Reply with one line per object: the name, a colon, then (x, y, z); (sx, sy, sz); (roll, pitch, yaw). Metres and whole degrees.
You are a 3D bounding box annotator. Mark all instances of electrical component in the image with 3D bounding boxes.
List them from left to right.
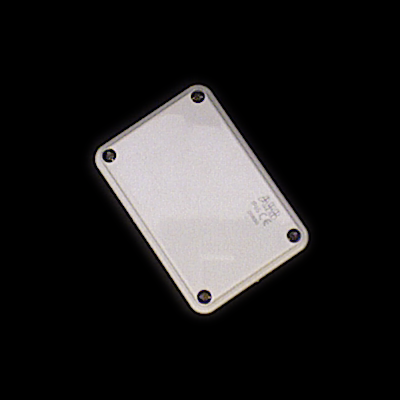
electrical component: (0.000, 0.000, 0.628); (0.078, 0.113, 0.057); (-34, -6, -3)
